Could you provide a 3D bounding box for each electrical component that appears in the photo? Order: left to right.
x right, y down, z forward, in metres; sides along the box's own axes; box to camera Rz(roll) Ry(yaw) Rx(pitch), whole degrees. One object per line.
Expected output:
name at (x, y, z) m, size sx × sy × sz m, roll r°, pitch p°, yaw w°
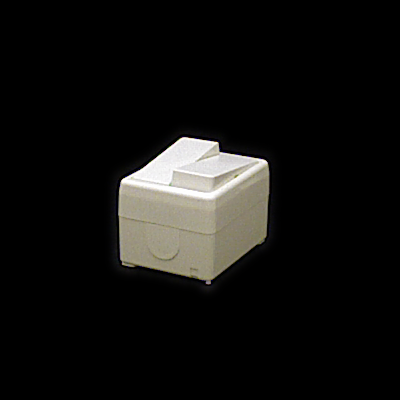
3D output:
electrical component at (0.000, 0.000, 0.641) m, size 0.061 × 0.061 × 0.095 m, roll 11°, pitch 23°, yaw 25°
